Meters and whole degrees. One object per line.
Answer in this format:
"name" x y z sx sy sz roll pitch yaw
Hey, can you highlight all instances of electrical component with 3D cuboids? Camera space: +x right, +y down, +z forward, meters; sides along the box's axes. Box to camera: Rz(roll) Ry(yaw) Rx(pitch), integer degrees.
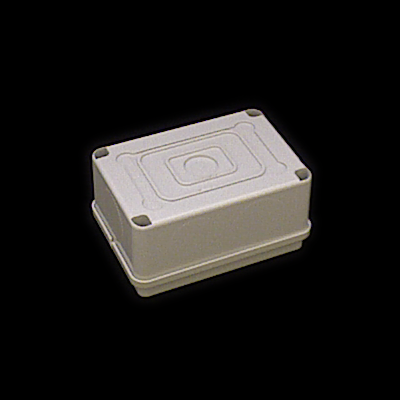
"electrical component" 0.000 0.000 0.631 0.113 0.057 0.077 -16 45 -18
